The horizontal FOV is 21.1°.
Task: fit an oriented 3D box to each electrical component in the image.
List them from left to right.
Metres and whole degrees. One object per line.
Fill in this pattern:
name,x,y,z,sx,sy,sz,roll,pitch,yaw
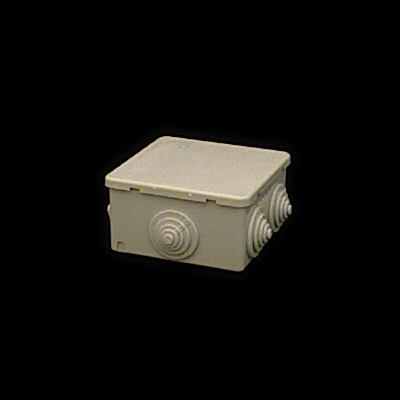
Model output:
electrical component,0.000,0.000,0.649,0.099,0.049,0.099,9,23,19
